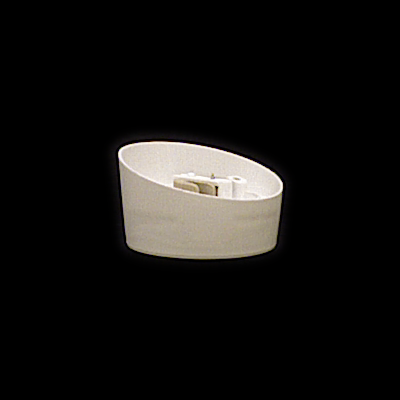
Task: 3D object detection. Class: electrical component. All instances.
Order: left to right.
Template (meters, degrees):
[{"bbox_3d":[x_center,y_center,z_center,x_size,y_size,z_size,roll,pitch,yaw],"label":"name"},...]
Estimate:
[{"bbox_3d":[0.000,0.000,0.643,0.099,0.064,0.098,0,10,0],"label":"electrical component"}]
